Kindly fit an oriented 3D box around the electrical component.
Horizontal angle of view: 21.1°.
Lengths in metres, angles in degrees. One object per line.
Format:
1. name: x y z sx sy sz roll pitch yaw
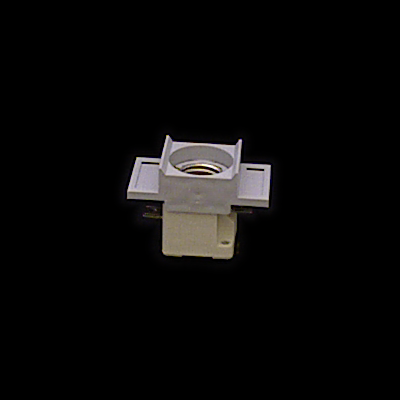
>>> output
1. electrical component: 0.000 0.000 0.633 0.081 0.064 0.041 4 32 3
